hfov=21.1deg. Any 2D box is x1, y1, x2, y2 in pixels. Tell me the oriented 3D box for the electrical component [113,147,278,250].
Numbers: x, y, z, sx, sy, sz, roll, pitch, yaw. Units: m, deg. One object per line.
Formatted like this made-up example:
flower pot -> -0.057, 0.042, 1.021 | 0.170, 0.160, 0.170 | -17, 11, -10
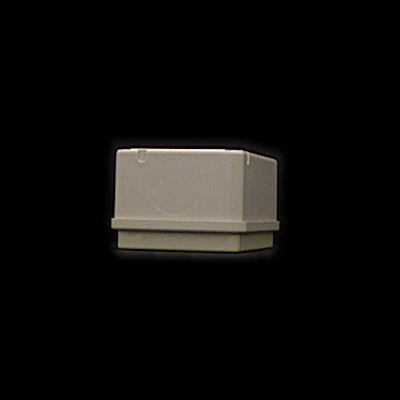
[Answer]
electrical component -> 0.000, 0.000, 0.650 | 0.078, 0.057, 0.113 | 1, -1, 15
